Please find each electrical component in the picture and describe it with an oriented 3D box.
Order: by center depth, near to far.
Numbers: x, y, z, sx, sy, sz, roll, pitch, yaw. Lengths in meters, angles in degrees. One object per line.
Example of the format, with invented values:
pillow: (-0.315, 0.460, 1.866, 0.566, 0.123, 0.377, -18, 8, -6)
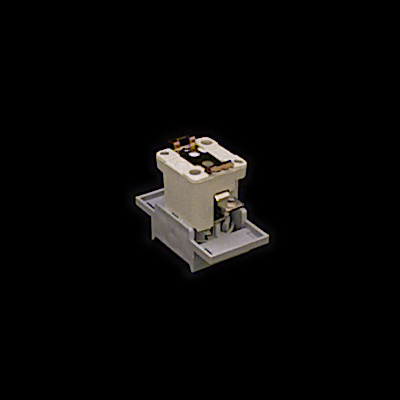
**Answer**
electrical component: (0.000, 0.000, 0.634, 0.042, 0.064, 0.080, -20, 37, -30)
